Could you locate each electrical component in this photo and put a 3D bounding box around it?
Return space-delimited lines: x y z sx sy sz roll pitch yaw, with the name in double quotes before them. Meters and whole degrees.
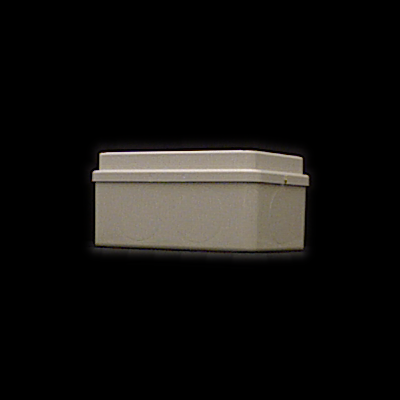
"electrical component" 0.000 0.000 0.651 0.113 0.057 0.078 1 0 30
